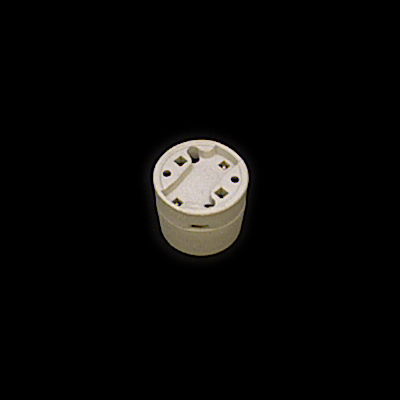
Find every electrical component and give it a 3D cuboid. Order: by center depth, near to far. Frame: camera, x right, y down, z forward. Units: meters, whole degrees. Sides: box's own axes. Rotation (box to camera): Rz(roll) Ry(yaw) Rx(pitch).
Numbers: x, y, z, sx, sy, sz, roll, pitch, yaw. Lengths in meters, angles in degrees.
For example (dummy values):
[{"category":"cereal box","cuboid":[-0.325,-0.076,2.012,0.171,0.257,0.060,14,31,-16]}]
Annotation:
[{"category":"electrical component","cuboid":[0.000,0.000,0.633,0.055,0.055,0.047,0,-38,0]}]
